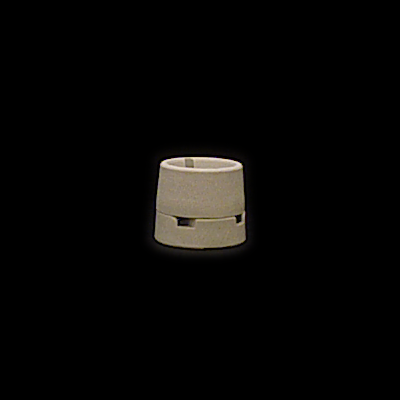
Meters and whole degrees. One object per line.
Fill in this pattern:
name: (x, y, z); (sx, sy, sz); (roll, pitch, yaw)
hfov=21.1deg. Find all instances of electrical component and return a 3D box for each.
electrical component: (0.000, 0.000, 0.644); (0.055, 0.047, 0.055); (1, 12, 0)
